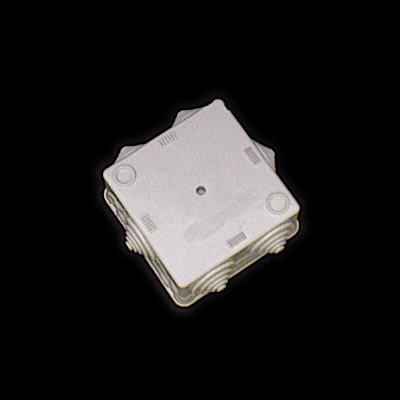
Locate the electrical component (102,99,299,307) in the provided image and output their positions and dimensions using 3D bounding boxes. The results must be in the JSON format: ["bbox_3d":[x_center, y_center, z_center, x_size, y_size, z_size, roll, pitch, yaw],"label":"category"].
[{"bbox_3d":[0.000,0.000,0.632,0.100,0.100,0.048,-33,-14,-9],"label":"electrical component"}]
